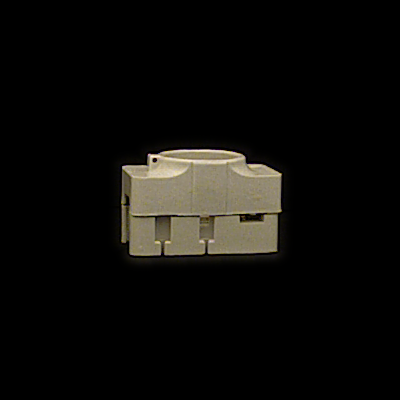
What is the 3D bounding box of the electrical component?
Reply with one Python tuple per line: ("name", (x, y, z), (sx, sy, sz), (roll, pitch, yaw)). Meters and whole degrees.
("electrical component", (0.000, 0.000, 0.652), (0.090, 0.056, 0.049), (-1, 12, -13))
